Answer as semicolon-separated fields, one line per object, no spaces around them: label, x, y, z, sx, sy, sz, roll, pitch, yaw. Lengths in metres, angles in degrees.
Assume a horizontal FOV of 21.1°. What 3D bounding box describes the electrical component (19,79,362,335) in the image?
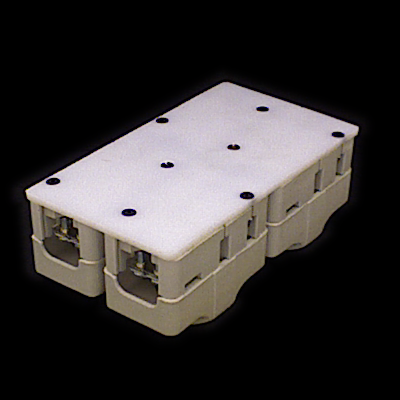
electrical component;0.000;0.000;0.633;0.105;0.061;0.185;22;37;31
